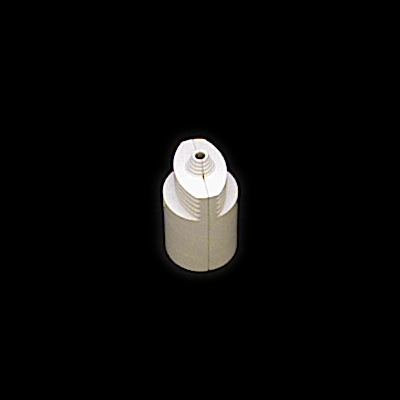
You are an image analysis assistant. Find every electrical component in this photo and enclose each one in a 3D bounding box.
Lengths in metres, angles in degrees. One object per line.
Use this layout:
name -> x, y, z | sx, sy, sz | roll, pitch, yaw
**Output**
electrical component -> 0.000, 0.000, 0.620 | 0.043, 0.043, 0.081 | 0, -38, 0
